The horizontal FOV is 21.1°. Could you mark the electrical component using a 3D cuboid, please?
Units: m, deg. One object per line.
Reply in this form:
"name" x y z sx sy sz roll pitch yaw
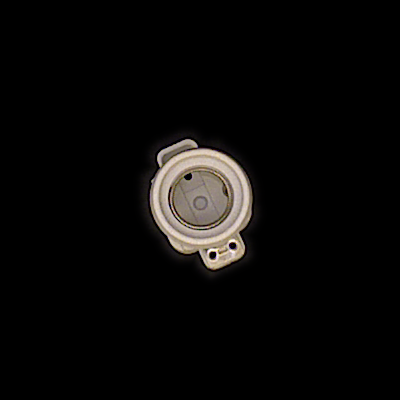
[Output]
"electrical component" 0.000 0.000 0.629 0.058 0.078 0.056 -25 -6 -2
